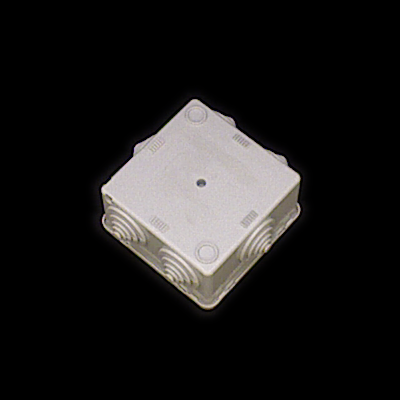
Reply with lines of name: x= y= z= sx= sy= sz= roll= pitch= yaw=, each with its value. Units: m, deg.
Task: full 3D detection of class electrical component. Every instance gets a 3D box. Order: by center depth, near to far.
electrical component: x=0.000 y=0.000 z=0.631 sx=0.099 sy=0.100 sz=0.048 roll=38 pitch=-21 yaw=17
